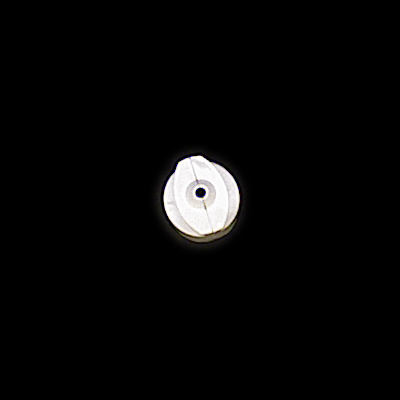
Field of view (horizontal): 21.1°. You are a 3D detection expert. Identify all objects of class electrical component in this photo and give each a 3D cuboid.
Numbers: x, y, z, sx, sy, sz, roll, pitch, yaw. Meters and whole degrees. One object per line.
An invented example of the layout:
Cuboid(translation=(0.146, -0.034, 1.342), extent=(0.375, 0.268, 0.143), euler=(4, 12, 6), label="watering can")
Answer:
Cuboid(translation=(0.000, 0.000, 0.616), extent=(0.043, 0.043, 0.080), euler=(0, -6, 1), label="electrical component")
